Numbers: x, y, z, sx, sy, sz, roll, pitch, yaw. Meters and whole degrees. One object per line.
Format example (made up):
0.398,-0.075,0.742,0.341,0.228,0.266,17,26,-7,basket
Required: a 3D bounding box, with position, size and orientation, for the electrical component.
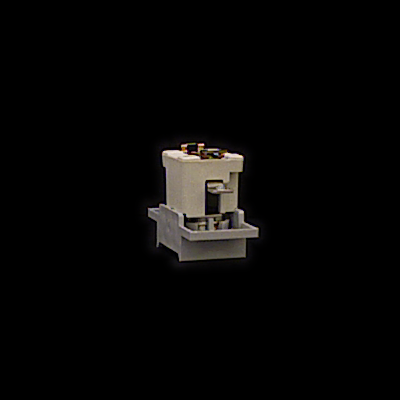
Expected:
0.000,0.000,0.644,0.042,0.064,0.080,-3,12,-20,electrical component
